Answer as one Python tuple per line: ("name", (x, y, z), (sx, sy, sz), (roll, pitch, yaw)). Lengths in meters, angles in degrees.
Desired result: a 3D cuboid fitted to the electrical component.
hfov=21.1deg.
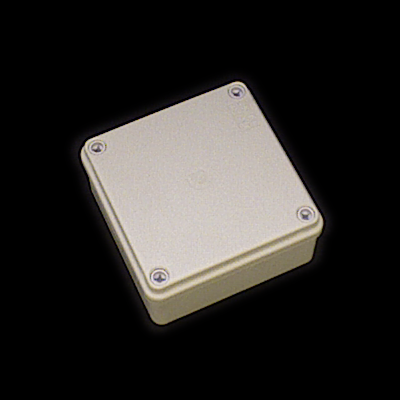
("electrical component", (0.000, 0.000, 0.628), (0.109, 0.108, 0.056), (-22, -25, -11))
